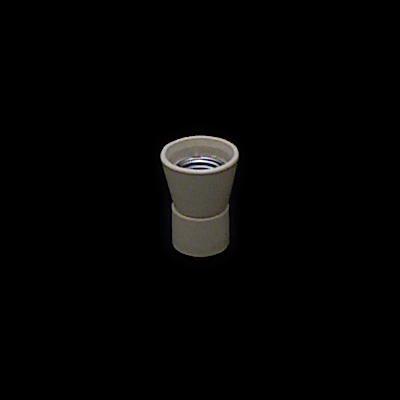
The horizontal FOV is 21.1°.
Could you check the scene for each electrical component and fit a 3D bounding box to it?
[{"bbox_3d":[0.000,0.000,0.632,0.044,0.066,0.044,0,32,0],"label":"electrical component"}]
